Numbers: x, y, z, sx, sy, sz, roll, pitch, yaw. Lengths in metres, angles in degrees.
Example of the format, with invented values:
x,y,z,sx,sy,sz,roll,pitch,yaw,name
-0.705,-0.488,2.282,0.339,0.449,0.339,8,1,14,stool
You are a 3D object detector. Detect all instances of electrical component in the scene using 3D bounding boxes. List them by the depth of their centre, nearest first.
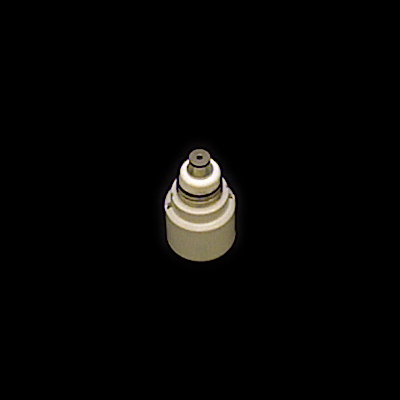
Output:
x,y,z,sx,sy,sz,roll,pitch,yaw,name
0.000,0.000,0.621,0.040,0.040,0.079,0,-37,1,electrical component
